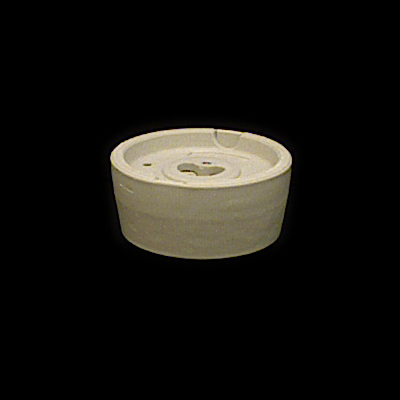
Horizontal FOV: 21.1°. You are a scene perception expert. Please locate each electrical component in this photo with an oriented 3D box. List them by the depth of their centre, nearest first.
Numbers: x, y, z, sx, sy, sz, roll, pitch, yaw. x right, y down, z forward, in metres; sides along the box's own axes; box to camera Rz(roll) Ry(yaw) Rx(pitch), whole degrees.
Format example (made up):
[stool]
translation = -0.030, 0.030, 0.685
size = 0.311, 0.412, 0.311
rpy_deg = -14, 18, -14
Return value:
[electrical component]
translation = 0.000, 0.000, 0.649
size = 0.108, 0.061, 0.106
rpy_deg = 1, 22, 0
